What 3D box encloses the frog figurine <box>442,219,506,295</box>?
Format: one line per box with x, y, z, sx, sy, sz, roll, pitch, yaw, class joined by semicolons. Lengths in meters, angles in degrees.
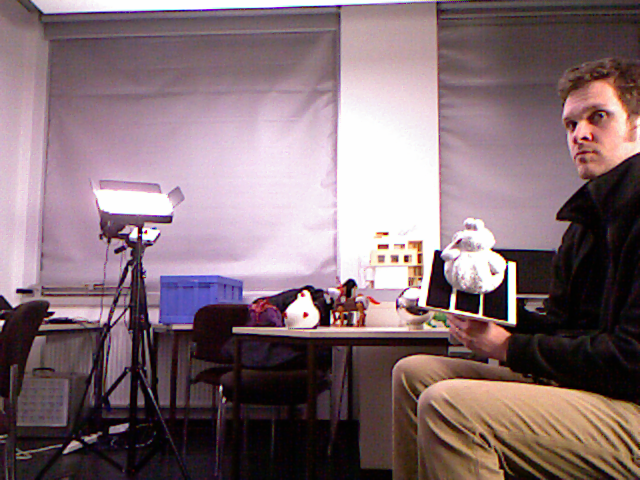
0.345;0.039;1.139;0.138;0.156;0.125;25;47;21;frog figurine
